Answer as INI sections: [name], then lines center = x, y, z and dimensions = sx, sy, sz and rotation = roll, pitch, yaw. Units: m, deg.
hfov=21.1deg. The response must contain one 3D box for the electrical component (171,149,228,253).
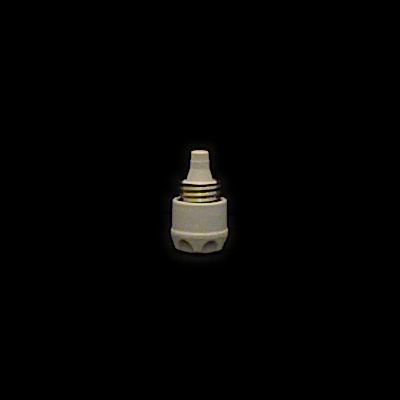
[electrical component]
center = 0.000, 0.000, 0.655
dimensions = 0.035, 0.062, 0.035
rotation = 0, 10, 0
